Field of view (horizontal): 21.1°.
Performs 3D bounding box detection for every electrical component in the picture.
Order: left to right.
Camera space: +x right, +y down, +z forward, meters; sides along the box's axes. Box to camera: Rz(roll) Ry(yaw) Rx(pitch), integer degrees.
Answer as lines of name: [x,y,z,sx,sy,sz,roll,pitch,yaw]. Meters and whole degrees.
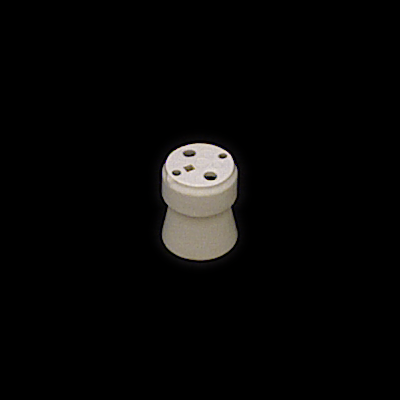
electrical component: [0.000,0.000,0.633,0.045,0.055,0.044,1,42,0]
